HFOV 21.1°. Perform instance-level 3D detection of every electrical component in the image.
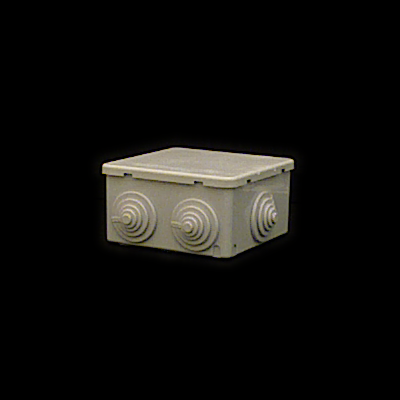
[{"bbox_3d":[0.000,0.000,0.651,0.098,0.049,0.100,7,13,28],"label":"electrical component"}]
